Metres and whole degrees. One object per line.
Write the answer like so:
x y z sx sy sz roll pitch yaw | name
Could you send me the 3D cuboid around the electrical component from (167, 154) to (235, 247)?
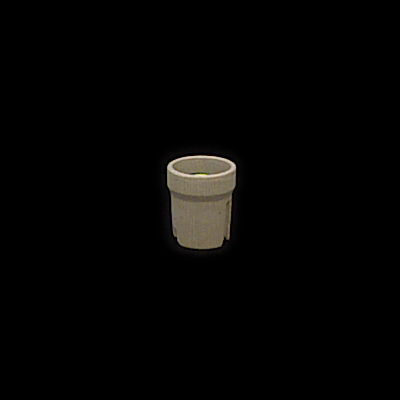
0.000 0.000 0.641 0.040 0.047 0.039 1 21 0 | electrical component
